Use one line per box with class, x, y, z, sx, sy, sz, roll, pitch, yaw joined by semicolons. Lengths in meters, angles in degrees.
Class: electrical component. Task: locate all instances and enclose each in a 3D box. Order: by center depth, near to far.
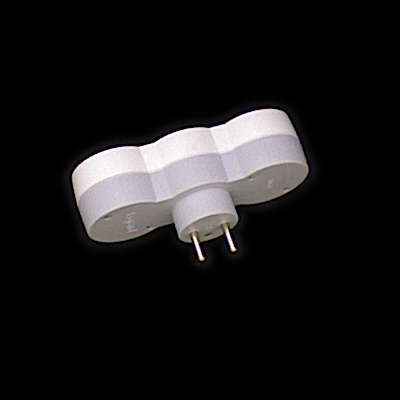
electrical component;0.000;0.000;0.631;0.138;0.074;0.052;-15;-24;-9
